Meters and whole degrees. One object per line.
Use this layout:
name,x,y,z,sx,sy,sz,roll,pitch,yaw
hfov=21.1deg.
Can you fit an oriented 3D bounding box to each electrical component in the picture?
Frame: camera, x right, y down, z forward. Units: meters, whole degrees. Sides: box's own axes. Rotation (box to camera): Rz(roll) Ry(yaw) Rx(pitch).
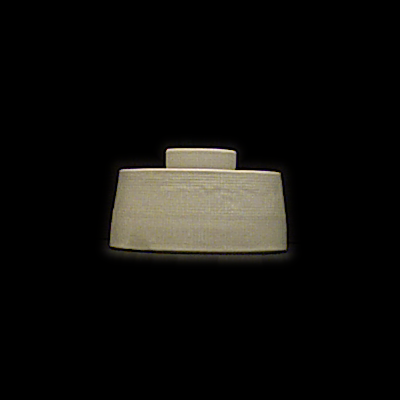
electrical component,0.000,0.000,0.654,0.108,0.060,0.108,1,1,1
